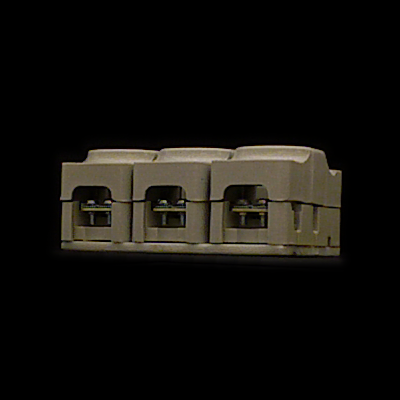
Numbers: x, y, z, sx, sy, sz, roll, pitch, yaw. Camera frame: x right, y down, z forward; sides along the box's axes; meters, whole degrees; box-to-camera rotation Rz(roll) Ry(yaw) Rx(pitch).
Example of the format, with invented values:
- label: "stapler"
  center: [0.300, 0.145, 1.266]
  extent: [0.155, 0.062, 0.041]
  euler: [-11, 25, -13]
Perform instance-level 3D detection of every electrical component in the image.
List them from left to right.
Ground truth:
- label: "electrical component"
  center: [0.000, 0.000, 0.658]
  extent: [0.150, 0.062, 0.090]
  euler: [1, -1, 27]
